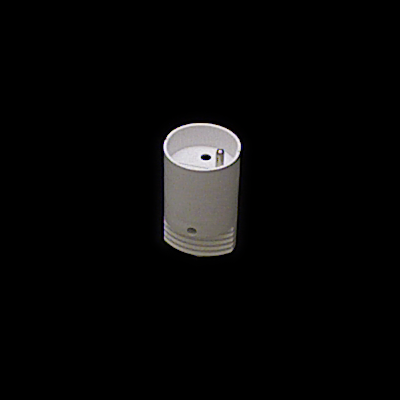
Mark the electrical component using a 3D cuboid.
[{"bbox_3d":[0.000,0.000,0.624,0.043,0.082,0.042,1,42,-1],"label":"electrical component"}]
